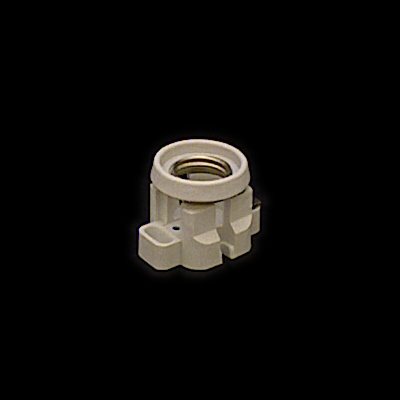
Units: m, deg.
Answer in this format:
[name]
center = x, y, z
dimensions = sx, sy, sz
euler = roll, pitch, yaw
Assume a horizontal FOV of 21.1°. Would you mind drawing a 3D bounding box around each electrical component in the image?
[electrical component]
center = 0.000, 0.000, 0.637
dimensions = 0.078, 0.057, 0.057
euler = -21, 38, -32
